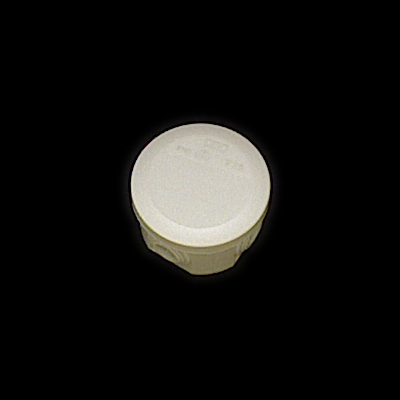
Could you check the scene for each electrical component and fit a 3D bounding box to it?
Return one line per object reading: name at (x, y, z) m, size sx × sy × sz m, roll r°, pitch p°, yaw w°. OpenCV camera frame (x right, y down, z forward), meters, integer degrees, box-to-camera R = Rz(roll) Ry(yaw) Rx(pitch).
electrical component at (0.000, 0.000, 0.630) m, size 0.080 × 0.080 × 0.050 m, roll 0°, pitch -27°, yaw 0°
